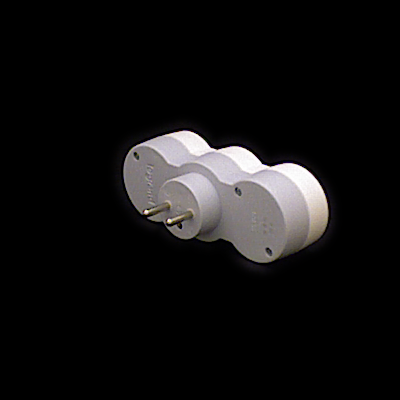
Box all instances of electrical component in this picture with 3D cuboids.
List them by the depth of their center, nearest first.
[{"bbox_3d":[0.000,0.000,0.639,0.137,0.053,0.073,21,30,40],"label":"electrical component"}]
